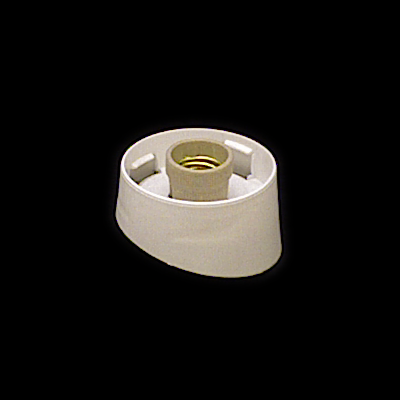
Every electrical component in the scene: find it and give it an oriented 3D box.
[{"bbox_3d":[0.000,0.000,0.632,0.099,0.065,0.097,1,31,0],"label":"electrical component"}]
